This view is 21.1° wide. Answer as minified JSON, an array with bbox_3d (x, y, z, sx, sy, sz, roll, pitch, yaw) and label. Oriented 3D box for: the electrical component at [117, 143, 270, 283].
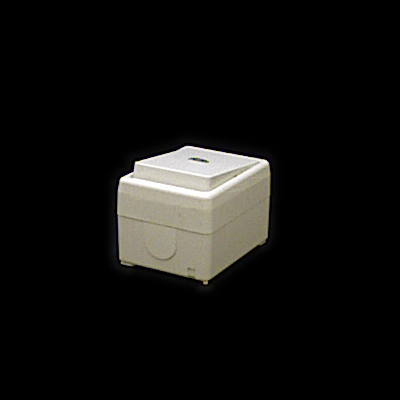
[{"bbox_3d":[0.000,0.000,0.641,0.061,0.061,0.095,12,23,27],"label":"electrical component"}]
